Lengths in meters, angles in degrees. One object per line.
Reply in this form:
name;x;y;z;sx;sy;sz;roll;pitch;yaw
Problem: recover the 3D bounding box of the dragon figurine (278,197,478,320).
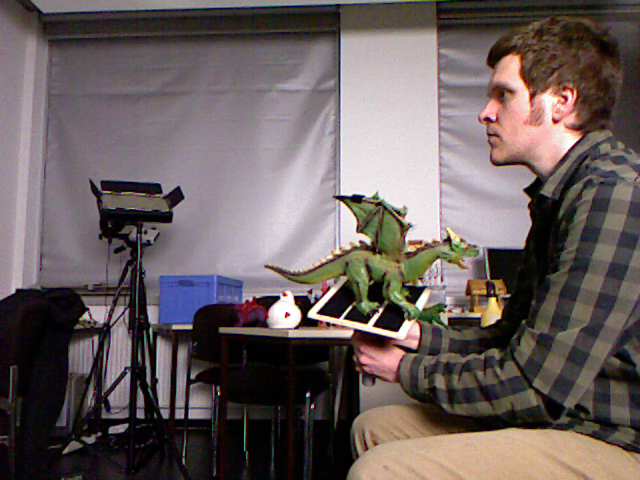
dragon figurine;0.095;0.021;1.019;0.411;0.238;0.125;8;30;16
